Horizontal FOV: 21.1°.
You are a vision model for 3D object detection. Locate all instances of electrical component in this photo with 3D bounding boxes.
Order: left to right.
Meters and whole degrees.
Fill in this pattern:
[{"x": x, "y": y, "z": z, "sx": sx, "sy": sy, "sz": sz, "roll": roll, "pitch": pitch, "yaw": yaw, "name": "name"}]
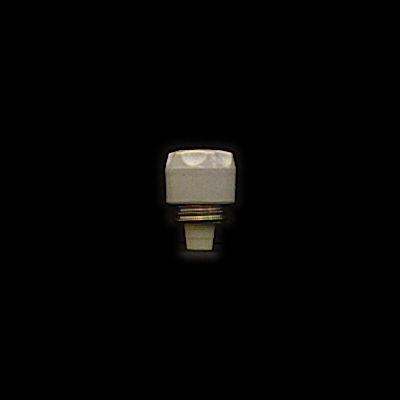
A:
[{"x": 0.000, "y": 0.000, "z": 0.656, "sx": 0.043, "sy": 0.062, "sz": 0.043, "roll": 1, "pitch": 2, "yaw": 1, "name": "electrical component"}]
